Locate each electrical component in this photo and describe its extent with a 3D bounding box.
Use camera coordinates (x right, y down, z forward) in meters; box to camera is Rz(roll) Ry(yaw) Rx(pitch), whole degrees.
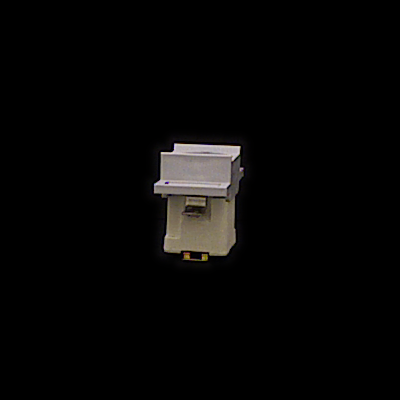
[{"bbox_3d":[0.000,0.000,0.646,0.042,0.064,0.080,2,11,9],"label":"electrical component"}]
